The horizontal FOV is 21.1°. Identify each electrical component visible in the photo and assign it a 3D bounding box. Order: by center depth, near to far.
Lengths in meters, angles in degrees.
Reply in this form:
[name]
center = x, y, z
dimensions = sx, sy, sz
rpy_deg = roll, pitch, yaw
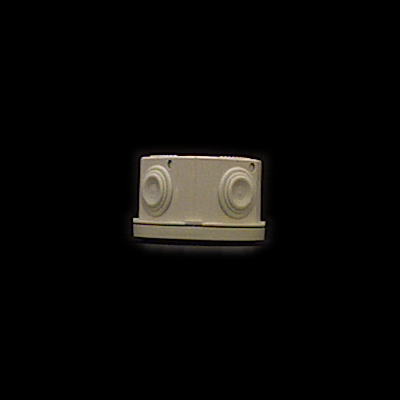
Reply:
[electrical component]
center = 0.000, 0.000, 0.650
dimensions = 0.080, 0.051, 0.080
rpy_deg = 2, 0, 0
